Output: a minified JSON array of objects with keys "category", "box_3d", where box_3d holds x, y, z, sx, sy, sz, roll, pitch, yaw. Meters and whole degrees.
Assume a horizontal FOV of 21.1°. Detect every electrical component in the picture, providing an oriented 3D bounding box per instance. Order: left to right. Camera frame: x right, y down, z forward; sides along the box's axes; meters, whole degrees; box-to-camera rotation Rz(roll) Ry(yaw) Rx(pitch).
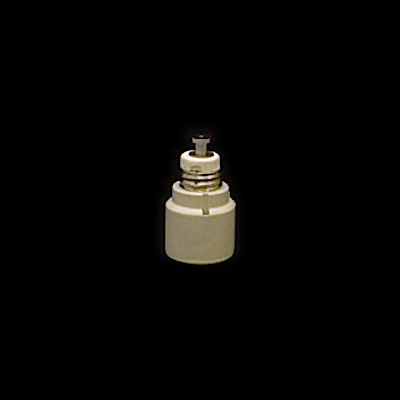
[{"category":"electrical component","box_3d":[0.000,0.000,0.634,0.040,0.079,0.039,0,20,0]}]
